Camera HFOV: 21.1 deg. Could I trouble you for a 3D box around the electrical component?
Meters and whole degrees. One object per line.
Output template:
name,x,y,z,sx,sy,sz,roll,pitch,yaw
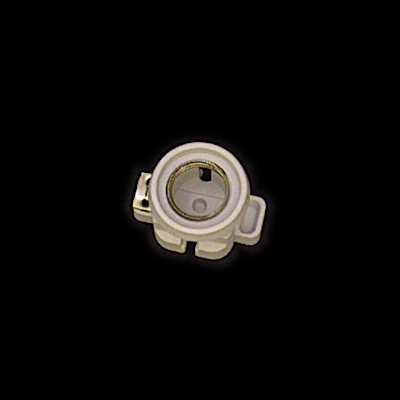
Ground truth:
electrical component,0.000,0.000,0.628,0.078,0.058,0.056,12,-16,3
